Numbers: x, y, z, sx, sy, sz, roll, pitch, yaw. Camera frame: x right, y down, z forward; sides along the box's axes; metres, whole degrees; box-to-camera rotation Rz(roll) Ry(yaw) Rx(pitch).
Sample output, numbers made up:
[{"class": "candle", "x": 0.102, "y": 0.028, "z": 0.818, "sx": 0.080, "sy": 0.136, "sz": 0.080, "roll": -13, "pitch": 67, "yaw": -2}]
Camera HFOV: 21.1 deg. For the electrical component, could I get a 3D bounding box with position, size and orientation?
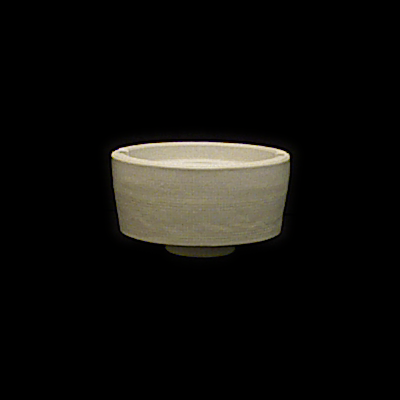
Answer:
[{"class": "electrical component", "x": 0.000, "y": 0.000, "z": 0.653, "sx": 0.108, "sy": 0.061, "sz": 0.107, "roll": 1, "pitch": 11, "yaw": 0}]
